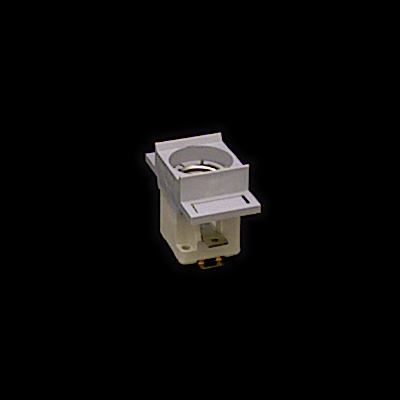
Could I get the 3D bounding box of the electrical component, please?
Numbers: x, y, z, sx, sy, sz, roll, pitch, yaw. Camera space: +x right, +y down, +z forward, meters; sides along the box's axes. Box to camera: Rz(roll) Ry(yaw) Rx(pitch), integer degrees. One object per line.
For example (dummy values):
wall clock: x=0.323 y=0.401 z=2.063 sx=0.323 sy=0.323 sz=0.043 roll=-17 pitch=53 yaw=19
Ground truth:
electrical component: x=0.000 y=0.000 z=0.631 sx=0.042 sy=0.064 sz=0.080 roll=-9 pitch=32 yaw=-18
